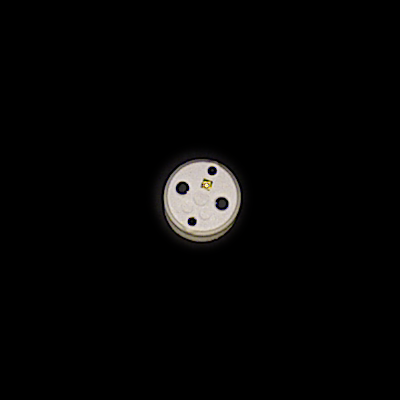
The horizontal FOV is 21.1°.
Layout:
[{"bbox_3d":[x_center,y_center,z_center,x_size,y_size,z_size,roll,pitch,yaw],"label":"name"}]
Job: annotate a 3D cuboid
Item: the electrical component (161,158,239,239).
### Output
[{"bbox_3d":[0.000,0.000,0.630,0.045,0.045,0.055,0,-6,0],"label":"electrical component"}]
